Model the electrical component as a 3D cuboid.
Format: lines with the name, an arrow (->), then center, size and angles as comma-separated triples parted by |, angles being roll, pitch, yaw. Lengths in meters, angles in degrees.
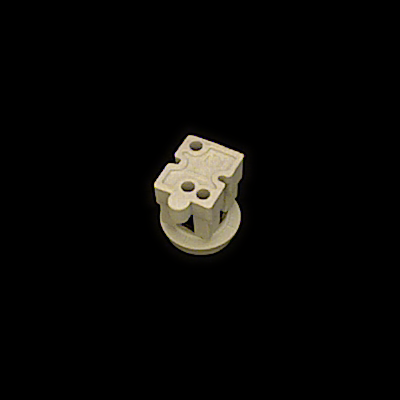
electrical component -> 0.000, 0.000, 0.637 | 0.048, 0.066, 0.055 | 22, -35, 17
